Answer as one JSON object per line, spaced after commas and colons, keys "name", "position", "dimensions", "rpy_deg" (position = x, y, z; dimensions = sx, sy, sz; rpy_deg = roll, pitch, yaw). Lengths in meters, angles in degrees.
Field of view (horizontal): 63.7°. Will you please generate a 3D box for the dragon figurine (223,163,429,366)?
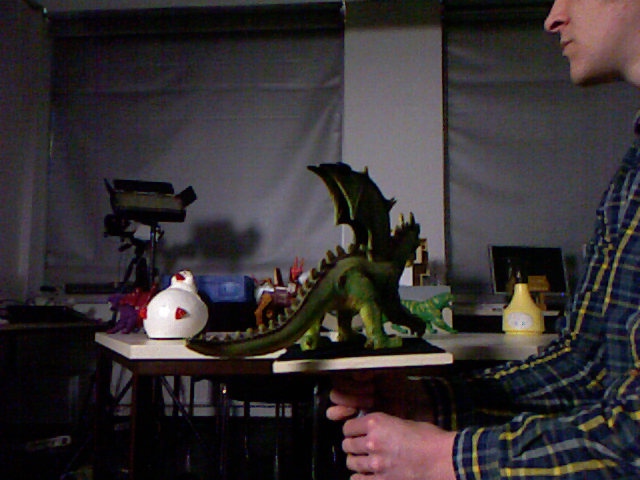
{"name": "dragon figurine", "position": [0.037, 0.020, 0.674], "dimensions": [0.122, 0.244, 0.410], "rpy_deg": [-8, -8, 36]}
